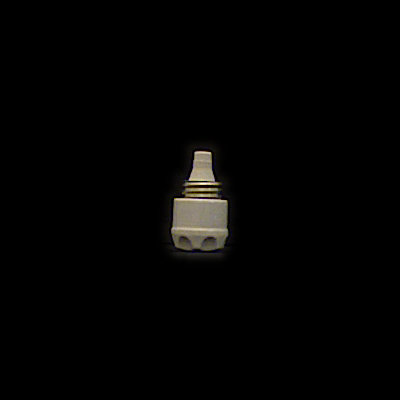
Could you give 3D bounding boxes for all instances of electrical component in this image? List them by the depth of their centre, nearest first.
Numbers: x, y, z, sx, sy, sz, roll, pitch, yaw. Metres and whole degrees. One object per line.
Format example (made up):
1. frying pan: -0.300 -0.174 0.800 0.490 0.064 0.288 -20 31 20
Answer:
1. electrical component: 0.000 0.000 0.664 0.035 0.061 0.035 3 2 0
